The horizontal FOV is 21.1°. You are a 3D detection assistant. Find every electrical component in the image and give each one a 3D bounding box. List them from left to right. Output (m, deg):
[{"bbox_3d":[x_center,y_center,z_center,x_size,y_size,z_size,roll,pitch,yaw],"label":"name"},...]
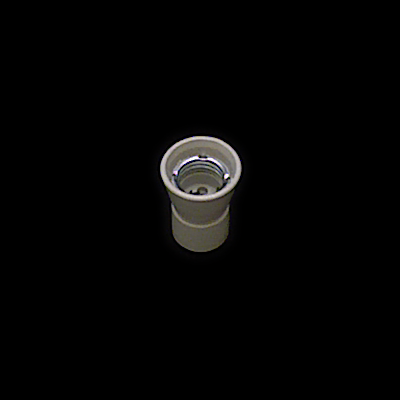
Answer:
[{"bbox_3d":[0.000,0.000,0.625,0.044,0.044,0.065,0,-37,-1],"label":"electrical component"}]
